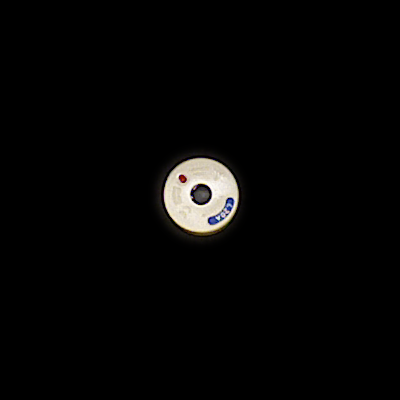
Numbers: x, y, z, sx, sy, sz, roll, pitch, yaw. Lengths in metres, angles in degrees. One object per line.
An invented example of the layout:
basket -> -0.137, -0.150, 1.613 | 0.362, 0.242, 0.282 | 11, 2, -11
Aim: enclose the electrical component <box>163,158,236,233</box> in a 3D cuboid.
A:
electrical component -> 0.000, 0.000, 0.618 | 0.040, 0.040, 0.078 | 0, -6, 1
